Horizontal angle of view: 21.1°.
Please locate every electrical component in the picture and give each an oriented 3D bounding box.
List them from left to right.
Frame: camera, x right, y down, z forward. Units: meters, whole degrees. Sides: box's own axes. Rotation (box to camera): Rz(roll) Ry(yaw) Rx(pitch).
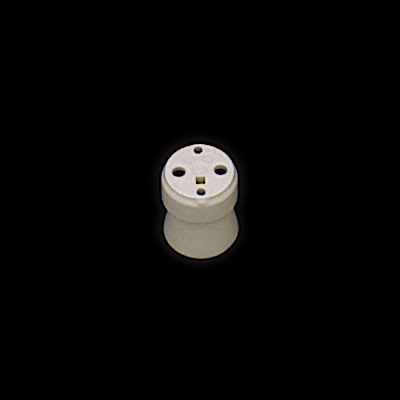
[{"bbox_3d":[0.000,0.000,0.630,0.045,0.044,0.055,0,-38,0],"label":"electrical component"}]
